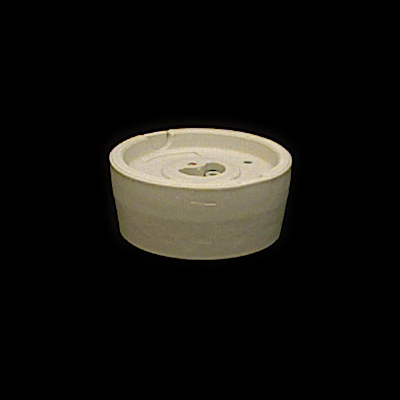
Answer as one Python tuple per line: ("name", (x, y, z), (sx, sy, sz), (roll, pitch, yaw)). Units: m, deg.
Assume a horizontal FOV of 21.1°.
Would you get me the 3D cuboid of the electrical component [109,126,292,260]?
("electrical component", (0.000, 0.000, 0.647), (0.108, 0.061, 0.106), (2, 22, 0))
